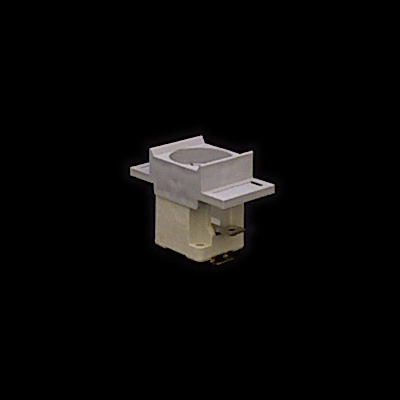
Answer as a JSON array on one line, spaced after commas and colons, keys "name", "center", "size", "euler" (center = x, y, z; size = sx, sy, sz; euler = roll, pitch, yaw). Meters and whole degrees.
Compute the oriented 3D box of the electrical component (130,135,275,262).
[{"name": "electrical component", "center": [0.000, 0.000, 0.636], "size": [0.042, 0.064, 0.080], "euler": [-17, 27, -40]}]
